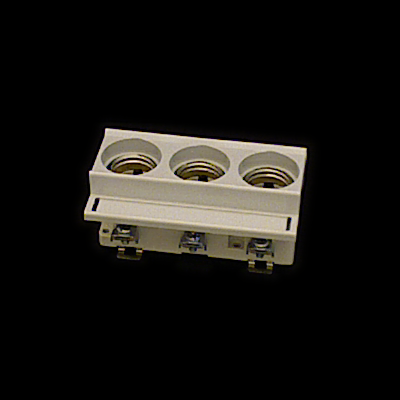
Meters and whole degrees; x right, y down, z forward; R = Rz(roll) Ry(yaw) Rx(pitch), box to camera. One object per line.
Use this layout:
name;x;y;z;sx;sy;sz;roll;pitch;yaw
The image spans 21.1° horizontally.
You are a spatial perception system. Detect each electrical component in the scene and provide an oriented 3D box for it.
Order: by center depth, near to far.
electrical component;0.000;0.000;0.643;0.121;0.064;0.077;6;41;6
